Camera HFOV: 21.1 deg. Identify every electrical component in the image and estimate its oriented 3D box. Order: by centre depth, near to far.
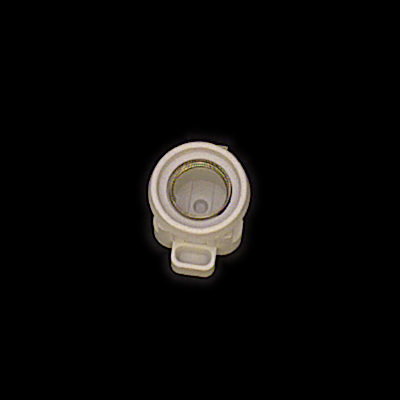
[{"bbox_3d":[0.000,0.000,0.629,0.058,0.079,0.056,8,-17,2],"label":"electrical component"}]
